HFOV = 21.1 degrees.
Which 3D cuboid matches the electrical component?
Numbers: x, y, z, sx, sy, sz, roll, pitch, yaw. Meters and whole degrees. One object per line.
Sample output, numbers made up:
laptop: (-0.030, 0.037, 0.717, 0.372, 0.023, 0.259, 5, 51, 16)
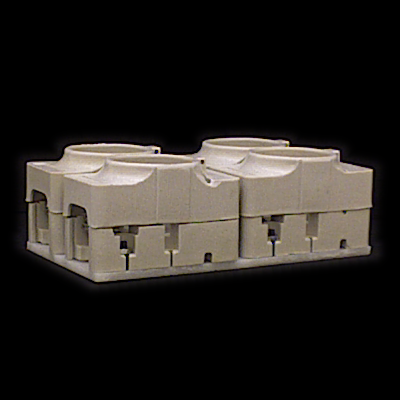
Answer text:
electrical component: (0.000, 0.000, 0.645, 0.186, 0.060, 0.104, -4, 11, -29)
